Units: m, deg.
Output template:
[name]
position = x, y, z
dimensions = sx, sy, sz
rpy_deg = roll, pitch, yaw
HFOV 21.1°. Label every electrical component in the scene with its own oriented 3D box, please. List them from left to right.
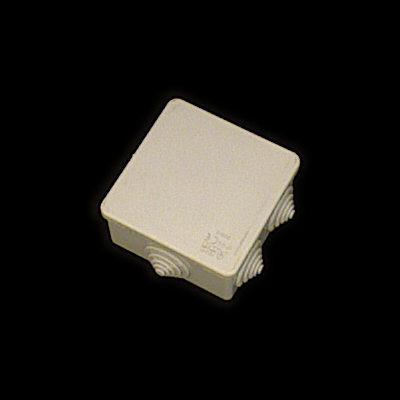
[electrical component]
position = 0.000, 0.000, 0.639
dimensions = 0.099, 0.100, 0.048
rpy_deg = 27, -24, 12
